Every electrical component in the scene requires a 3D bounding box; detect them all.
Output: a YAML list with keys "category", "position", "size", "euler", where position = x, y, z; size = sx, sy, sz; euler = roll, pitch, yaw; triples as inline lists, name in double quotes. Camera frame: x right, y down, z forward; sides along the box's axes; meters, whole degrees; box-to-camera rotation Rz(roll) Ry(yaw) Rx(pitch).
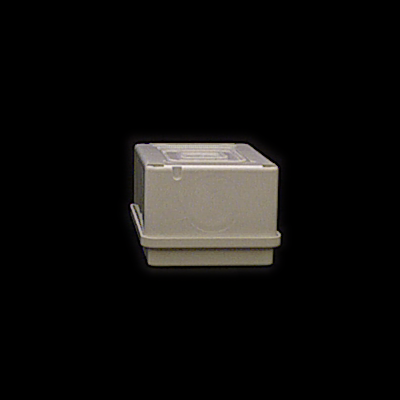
- category: "electrical component"
  position: [0.000, 0.000, 0.644]
  size: [0.078, 0.057, 0.112]
  euler: [0, 10, -7]
